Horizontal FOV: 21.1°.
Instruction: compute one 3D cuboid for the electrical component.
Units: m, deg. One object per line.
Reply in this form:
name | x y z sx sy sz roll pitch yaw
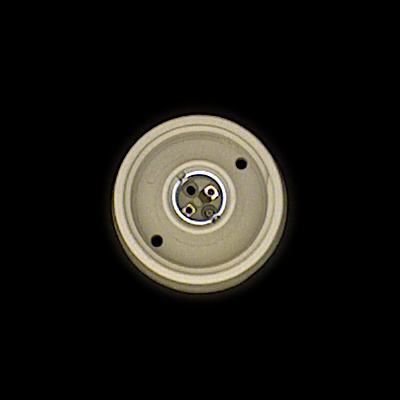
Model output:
electrical component | 0.000 0.000 0.635 0.108 0.108 0.060 0 -6 0
